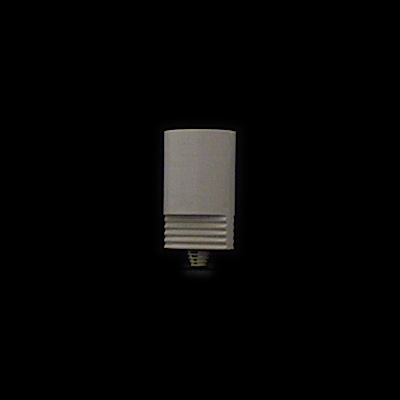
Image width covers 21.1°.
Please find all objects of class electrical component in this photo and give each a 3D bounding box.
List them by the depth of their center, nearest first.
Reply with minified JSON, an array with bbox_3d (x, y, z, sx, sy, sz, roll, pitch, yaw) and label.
[{"bbox_3d":[0.000,0.000,0.648,0.043,0.081,0.043,1,0,0],"label":"electrical component"}]
